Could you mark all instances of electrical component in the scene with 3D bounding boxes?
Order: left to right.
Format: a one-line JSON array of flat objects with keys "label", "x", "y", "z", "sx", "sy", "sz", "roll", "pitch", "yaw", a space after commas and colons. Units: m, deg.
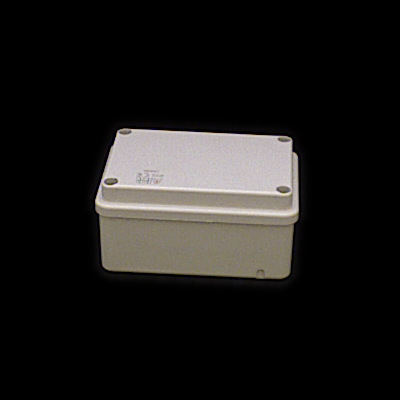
[{"label": "electrical component", "x": 0.000, "y": 0.000, "z": 0.632, "sx": 0.113, "sy": 0.058, "sz": 0.077, "roll": 3, "pitch": 31, "yaw": 2}]
